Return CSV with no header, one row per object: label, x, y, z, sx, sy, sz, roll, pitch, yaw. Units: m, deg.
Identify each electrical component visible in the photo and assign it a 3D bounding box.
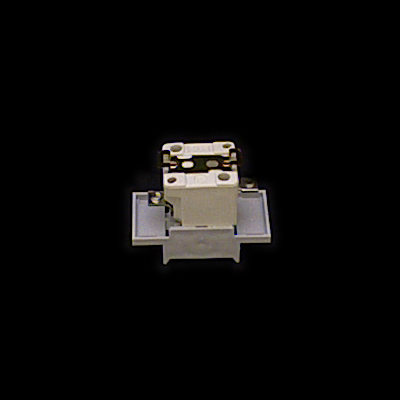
electrical component,0.000,0.000,0.629,0.081,0.064,0.042,-1,42,-3
